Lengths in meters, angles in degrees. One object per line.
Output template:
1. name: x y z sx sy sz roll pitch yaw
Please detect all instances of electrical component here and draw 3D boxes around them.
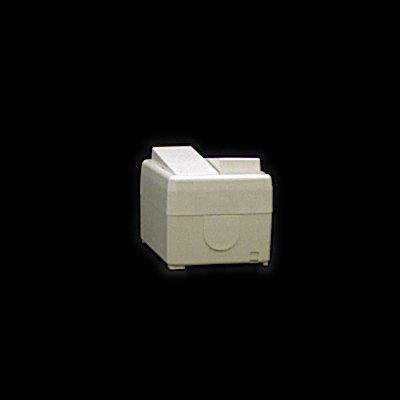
1. electrical component: 0.000 0.000 0.647 0.062 0.061 0.095 -2 11 -15
